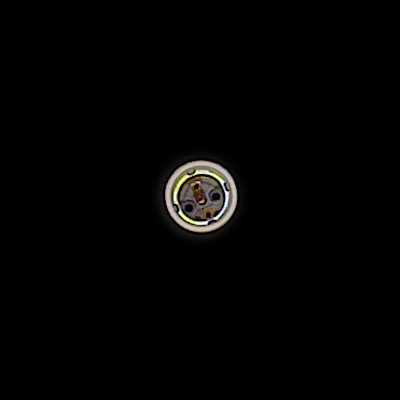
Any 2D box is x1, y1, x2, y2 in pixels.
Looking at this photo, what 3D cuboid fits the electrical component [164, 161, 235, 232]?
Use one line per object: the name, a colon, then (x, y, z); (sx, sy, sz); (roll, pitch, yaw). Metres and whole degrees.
electrical component: (0.000, 0.000, 0.627); (0.040, 0.040, 0.046); (0, -6, 0)
